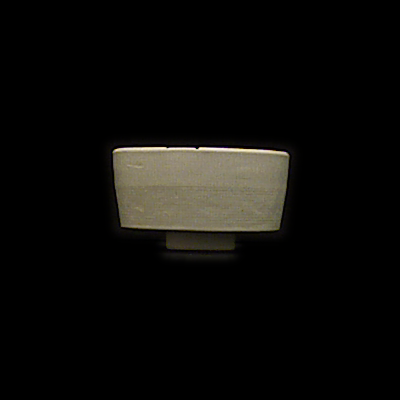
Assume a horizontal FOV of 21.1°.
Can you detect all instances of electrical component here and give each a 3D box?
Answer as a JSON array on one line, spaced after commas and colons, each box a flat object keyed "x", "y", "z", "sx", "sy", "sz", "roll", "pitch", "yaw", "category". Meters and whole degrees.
[{"x": 0.000, "y": 0.000, "z": 0.660, "sx": 0.108, "sy": 0.060, "sz": 0.108, "roll": 1, "pitch": 1, "yaw": 1, "category": "electrical component"}]
